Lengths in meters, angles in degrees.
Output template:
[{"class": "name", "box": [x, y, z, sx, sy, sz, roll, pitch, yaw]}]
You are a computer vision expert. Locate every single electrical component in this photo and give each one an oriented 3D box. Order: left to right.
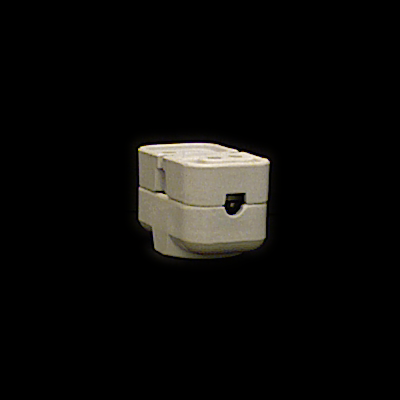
[{"class": "electrical component", "box": [0.000, 0.000, 0.653, 0.054, 0.060, 0.094, -4, 12, -25]}]
